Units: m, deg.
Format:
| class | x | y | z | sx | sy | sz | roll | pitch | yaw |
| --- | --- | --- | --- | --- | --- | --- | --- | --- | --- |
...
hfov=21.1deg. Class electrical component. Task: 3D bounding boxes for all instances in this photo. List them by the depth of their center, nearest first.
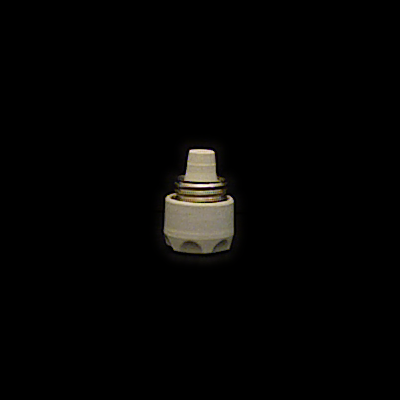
| class | x | y | z | sx | sy | sz | roll | pitch | yaw |
| --- | --- | --- | --- | --- | --- | --- | --- | --- | --- |
| electrical component | 0.000 | 0.000 | 0.652 | 0.043 | 0.062 | 0.043 | 2 | 11 | 0 |
